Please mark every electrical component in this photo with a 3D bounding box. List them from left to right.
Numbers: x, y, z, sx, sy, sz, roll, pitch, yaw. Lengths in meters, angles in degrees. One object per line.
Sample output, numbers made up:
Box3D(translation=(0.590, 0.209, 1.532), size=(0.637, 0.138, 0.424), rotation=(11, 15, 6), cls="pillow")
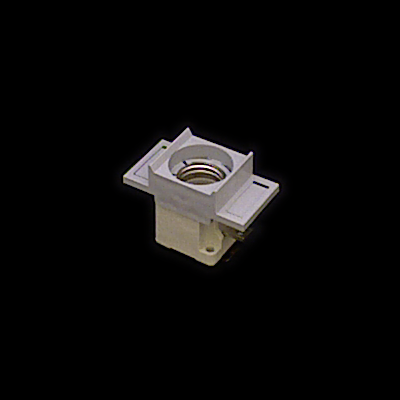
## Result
Box3D(translation=(0.000, 0.000, 0.628), size=(0.080, 0.064, 0.042), rotation=(23, 45, 23), cls="electrical component")
